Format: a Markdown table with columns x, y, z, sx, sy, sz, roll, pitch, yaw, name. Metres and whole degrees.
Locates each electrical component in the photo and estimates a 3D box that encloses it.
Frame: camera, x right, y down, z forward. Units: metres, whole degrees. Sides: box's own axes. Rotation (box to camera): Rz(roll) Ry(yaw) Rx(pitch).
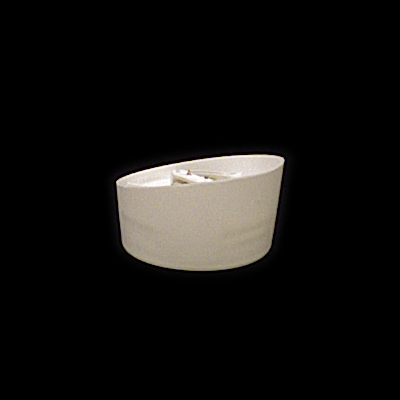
| x | y | z | sx | sy | sz | roll | pitch | yaw | name |
| --- | --- | --- | --- | --- | --- | --- | --- | --- | --- |
| 0.000 | 0.000 | 0.638 | 0.099 | 0.065 | 0.097 | 2 | 21 | -1 | electrical component |
